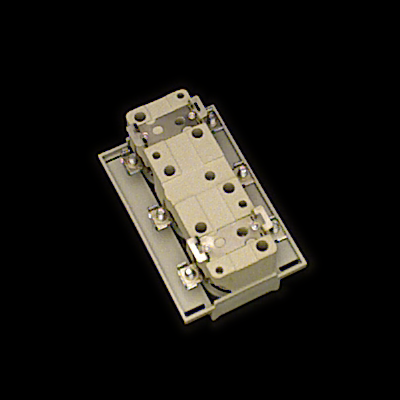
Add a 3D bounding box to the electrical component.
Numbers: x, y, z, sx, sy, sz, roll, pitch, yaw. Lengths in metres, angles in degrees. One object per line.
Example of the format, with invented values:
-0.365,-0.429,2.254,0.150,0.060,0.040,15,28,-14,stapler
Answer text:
0.000,0.000,0.632,0.079,0.121,0.063,-25,-24,-11,electrical component
